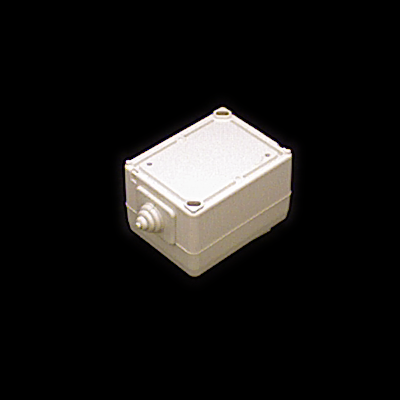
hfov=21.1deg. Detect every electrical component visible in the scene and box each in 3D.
[{"bbox_3d":[0.000,0.000,0.632,0.096,0.061,0.061,-32,51,-30],"label":"electrical component"}]
